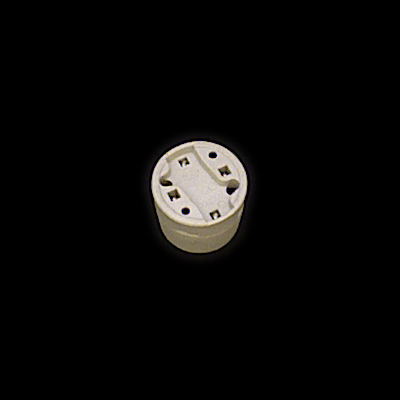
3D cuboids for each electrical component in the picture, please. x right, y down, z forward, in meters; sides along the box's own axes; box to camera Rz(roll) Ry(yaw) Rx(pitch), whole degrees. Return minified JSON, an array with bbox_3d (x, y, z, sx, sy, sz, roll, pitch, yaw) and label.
[{"bbox_3d":[0.000,0.000,0.634,0.055,0.056,0.047,0,-27,0],"label":"electrical component"}]
